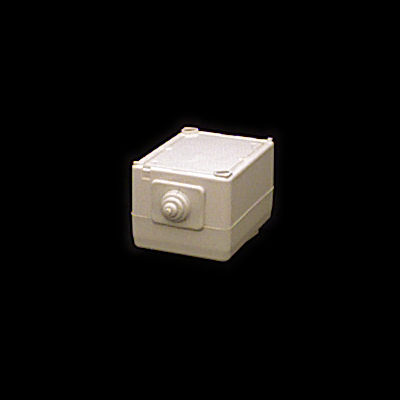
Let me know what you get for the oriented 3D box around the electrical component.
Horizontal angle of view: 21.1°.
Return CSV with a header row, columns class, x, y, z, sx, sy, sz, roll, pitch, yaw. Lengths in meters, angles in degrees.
class,x,y,z,sx,sy,sz,roll,pitch,yaw
electrical component,0.000,0.000,0.639,0.061,0.061,0.095,9,23,20
